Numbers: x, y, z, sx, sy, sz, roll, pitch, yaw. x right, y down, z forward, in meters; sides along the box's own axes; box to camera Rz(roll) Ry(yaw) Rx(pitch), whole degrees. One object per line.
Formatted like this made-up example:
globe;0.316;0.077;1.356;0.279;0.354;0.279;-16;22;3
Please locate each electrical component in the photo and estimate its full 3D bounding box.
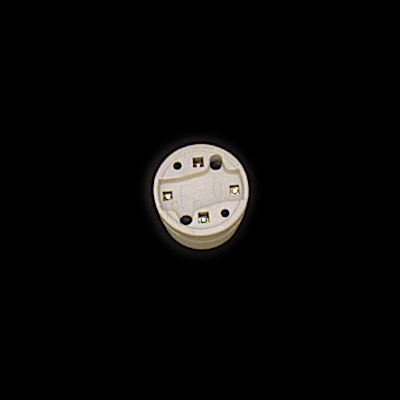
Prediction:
electrical component;0.000;0.000;0.634;0.055;0.056;0.047;0;-17;0
